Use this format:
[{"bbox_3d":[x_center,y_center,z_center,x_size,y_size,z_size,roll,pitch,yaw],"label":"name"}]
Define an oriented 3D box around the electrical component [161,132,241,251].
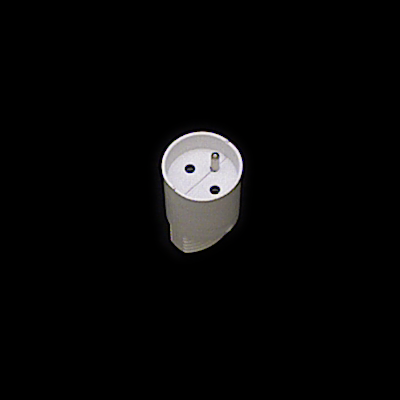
[{"bbox_3d":[0.000,0.000,0.617,0.043,0.043,0.081,0,-27,-1],"label":"electrical component"}]
